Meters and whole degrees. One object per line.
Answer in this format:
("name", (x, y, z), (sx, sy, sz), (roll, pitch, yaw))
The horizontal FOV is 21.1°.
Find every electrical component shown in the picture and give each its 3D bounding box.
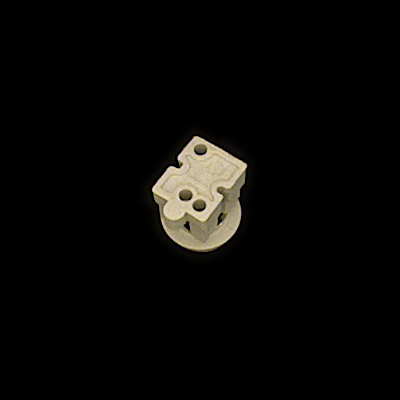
("electrical component", (0.000, 0.000, 0.636), (0.048, 0.067, 0.055), (31, -23, 16))
